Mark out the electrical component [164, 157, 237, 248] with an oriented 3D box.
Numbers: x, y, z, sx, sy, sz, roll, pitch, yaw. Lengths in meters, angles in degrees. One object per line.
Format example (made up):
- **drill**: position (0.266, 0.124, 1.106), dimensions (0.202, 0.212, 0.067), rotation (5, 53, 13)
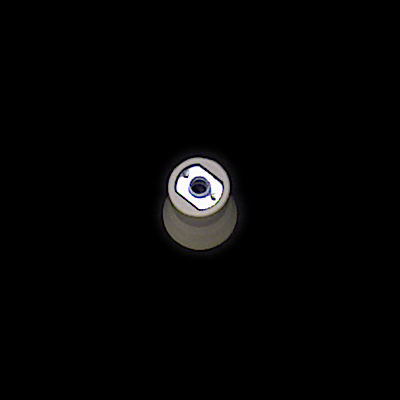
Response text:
- **electrical component**: position (0.000, 0.000, 0.624), dimensions (0.044, 0.044, 0.065), rotation (0, -16, 1)
